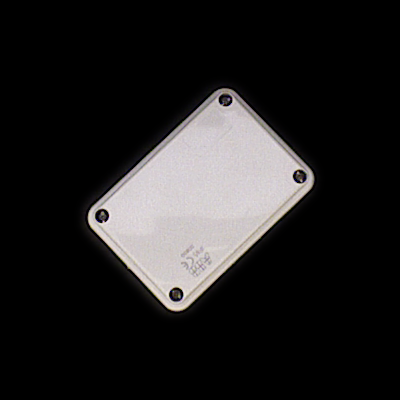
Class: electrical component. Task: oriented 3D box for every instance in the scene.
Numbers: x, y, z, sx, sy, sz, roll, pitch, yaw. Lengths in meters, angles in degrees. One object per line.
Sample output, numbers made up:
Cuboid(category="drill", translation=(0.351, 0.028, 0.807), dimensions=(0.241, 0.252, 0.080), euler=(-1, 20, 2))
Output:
Cuboid(category="electrical component", translation=(0.000, 0.000, 0.627), dimensions=(0.113, 0.078, 0.057), euler=(-44, -5, -5))
